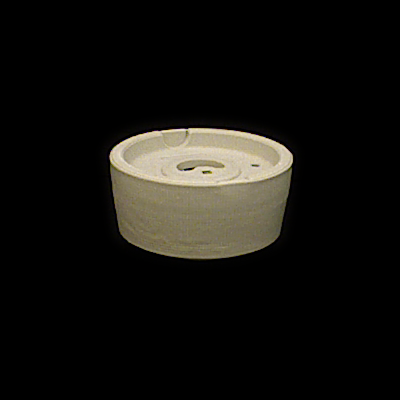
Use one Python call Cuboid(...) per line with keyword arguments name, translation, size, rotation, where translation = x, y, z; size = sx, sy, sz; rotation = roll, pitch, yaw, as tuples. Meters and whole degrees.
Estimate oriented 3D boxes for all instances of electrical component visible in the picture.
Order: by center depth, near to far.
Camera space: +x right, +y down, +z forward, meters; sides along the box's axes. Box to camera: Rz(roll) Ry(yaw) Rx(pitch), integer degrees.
Cuboid(name="electrical component", translation=(0.000, 0.000, 0.644), size=(0.108, 0.061, 0.106), rotation=(1, 21, 0))
